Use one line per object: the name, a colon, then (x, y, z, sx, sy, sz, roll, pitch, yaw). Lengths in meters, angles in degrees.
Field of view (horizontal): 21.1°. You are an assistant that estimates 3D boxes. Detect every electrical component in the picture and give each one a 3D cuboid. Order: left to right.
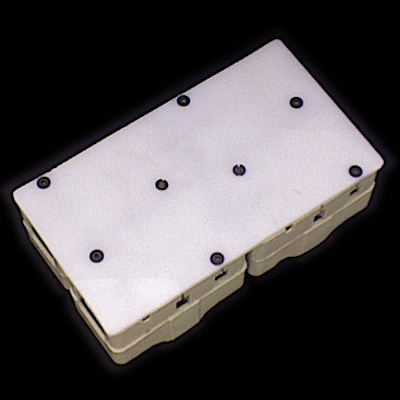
electrical component: (0.000, 0.000, 0.625, 0.187, 0.105, 0.060, -31, -23, -15)
